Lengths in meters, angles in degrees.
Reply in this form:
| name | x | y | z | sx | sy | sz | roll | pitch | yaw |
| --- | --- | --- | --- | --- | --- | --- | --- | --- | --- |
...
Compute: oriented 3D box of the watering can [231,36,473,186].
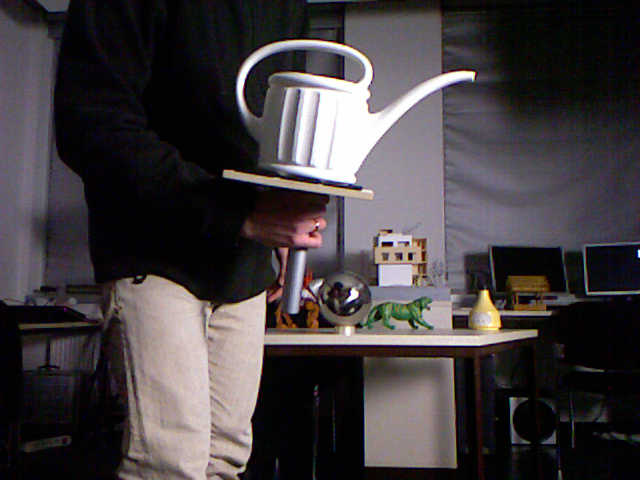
| name | x | y | z | sx | sy | sz | roll | pitch | yaw |
| --- | --- | --- | --- | --- | --- | --- | --- | --- | --- |
| watering can | 0.035 | -0.177 | 0.758 | 0.348 | 0.222 | 0.105 | 9 | 11 | 4 |
